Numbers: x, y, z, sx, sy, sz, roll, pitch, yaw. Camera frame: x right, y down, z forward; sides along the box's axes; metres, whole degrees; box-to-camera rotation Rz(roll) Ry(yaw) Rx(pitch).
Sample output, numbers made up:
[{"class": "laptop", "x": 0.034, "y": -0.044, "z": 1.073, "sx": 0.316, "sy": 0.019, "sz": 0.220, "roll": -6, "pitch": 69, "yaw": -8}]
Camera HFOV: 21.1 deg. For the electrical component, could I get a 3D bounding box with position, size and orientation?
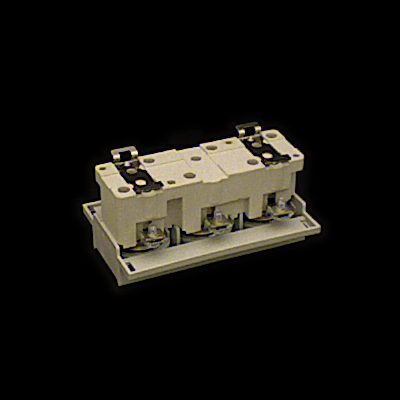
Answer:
[{"class": "electrical component", "x": 0.000, "y": 0.000, "z": 0.639, "sx": 0.122, "sy": 0.064, "sz": 0.077, "roll": -13, "pitch": 35, "yaw": -21}]
